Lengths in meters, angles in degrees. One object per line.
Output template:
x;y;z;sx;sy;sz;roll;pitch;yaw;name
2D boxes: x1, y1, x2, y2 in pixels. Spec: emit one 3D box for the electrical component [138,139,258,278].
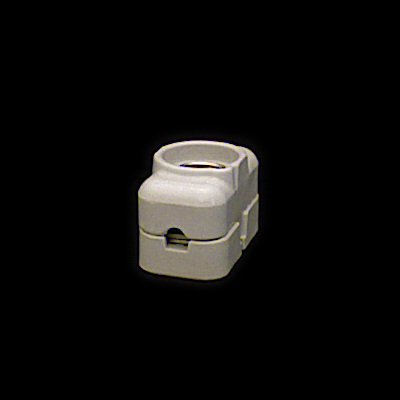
0.000;0.000;0.645;0.053;0.060;0.094;7;23;16;electrical component
